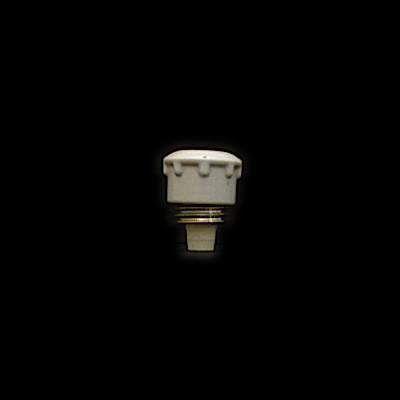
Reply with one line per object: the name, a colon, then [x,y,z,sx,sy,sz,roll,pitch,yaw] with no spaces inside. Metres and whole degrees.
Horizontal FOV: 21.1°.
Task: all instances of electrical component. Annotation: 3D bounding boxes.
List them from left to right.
electrical component: [0.000,0.000,0.658,0.048,0.062,0.048,2,2,1]
